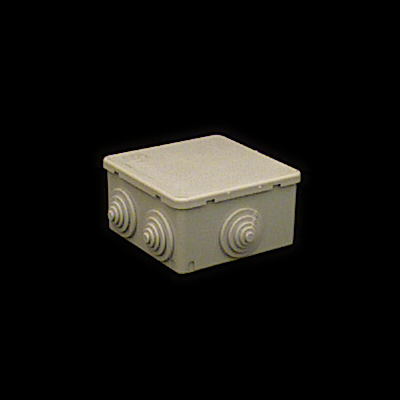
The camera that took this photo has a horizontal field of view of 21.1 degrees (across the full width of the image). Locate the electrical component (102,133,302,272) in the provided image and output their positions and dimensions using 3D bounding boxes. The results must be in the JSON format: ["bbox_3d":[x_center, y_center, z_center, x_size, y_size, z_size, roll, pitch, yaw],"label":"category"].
[{"bbox_3d":[0.000,0.000,0.647,0.100,0.049,0.098,-13,26,-32],"label":"electrical component"}]
